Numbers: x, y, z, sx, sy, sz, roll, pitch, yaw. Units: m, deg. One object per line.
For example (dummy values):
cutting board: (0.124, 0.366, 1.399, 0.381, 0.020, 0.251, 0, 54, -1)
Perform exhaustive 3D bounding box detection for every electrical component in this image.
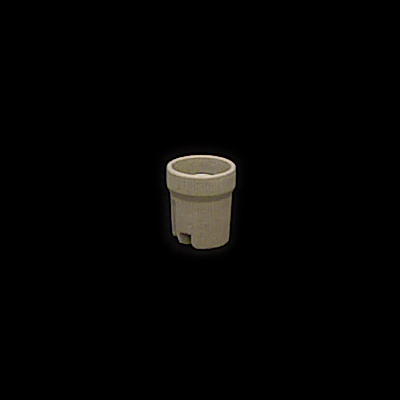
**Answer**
electrical component: (0.000, 0.000, 0.639, 0.040, 0.047, 0.039, 1, 21, 0)
